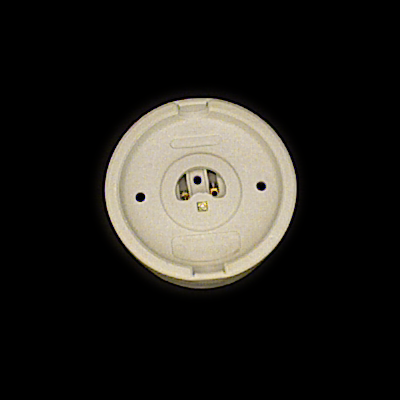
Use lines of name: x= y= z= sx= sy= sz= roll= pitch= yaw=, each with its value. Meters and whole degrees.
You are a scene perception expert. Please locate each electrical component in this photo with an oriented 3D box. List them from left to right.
electrical component: x=0.000 y=0.000 z=0.633 sx=0.108 sy=0.108 sz=0.060 roll=0 pitch=-17 yaw=0
